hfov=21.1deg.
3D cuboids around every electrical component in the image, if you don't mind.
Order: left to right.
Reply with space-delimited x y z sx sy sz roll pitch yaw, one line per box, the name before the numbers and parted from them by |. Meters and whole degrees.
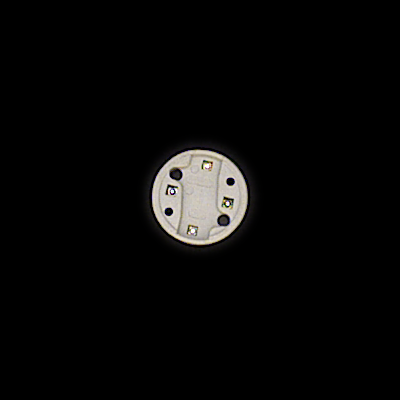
electrical component | 0.000 0.000 0.636 0.055 0.055 0.047 0 -6 0
